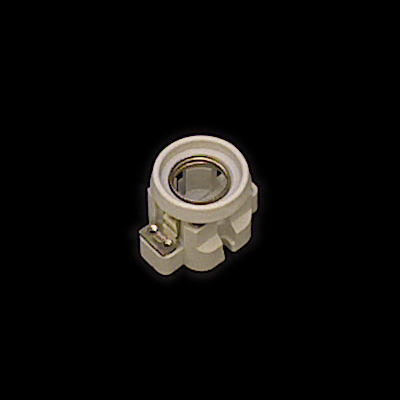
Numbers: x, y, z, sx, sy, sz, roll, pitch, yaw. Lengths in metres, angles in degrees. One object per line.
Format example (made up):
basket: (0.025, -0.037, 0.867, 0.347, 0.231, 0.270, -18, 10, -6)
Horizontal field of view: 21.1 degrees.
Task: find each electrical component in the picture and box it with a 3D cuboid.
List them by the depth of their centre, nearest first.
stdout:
electrical component: (0.000, 0.000, 0.628, 0.078, 0.057, 0.057, -36, 61, -24)
